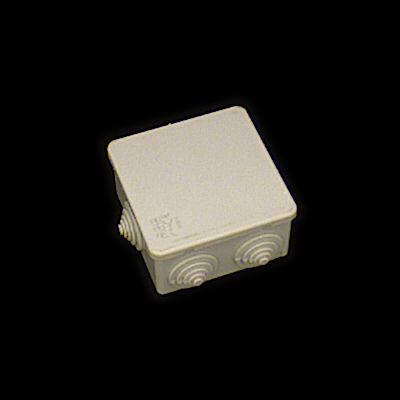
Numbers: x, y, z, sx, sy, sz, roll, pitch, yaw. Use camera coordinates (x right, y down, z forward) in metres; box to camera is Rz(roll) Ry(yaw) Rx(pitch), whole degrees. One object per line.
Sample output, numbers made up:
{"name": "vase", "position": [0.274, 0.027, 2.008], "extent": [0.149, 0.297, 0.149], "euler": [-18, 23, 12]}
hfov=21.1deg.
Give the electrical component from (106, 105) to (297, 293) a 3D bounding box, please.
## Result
{"name": "electrical component", "position": [0.000, 0.000, 0.639], "extent": [0.100, 0.099, 0.048], "euler": [-16, -35, -12]}
